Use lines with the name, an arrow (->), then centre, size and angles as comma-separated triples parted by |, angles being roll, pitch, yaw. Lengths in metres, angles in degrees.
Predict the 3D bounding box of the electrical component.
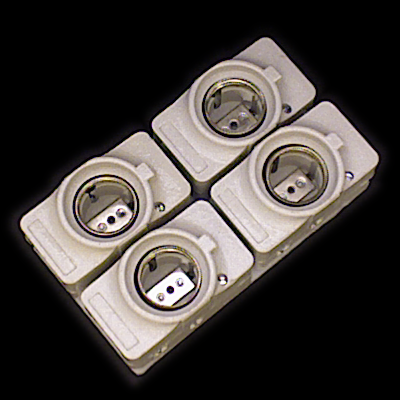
electrical component -> 0.000, 0.000, 0.625 | 0.187, 0.105, 0.060 | -38, -13, -11
